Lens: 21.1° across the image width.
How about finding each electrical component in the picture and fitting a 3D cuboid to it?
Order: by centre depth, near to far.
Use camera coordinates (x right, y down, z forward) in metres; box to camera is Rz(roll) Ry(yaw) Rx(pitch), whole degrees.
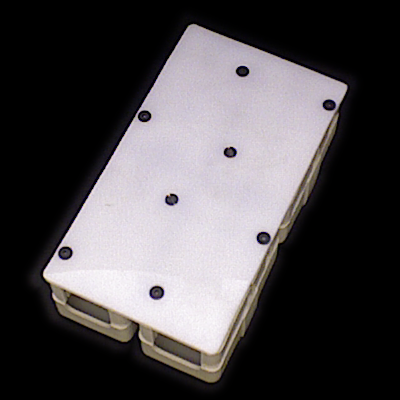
[{"bbox_3d":[0.000,0.000,0.625,0.105,0.187,0.060,23,-25,11],"label":"electrical component"}]
